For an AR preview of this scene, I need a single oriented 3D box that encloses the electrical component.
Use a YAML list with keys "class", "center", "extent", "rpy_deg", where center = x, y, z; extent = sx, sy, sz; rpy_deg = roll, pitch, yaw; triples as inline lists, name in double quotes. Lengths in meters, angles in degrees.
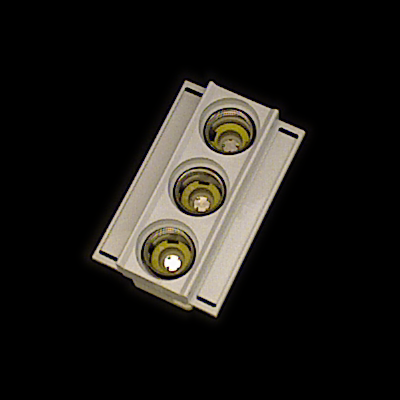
- class: "electrical component"
  center: [0.000, 0.000, 0.637]
  extent: [0.078, 0.122, 0.063]
  rpy_deg: [25, -14, 9]
